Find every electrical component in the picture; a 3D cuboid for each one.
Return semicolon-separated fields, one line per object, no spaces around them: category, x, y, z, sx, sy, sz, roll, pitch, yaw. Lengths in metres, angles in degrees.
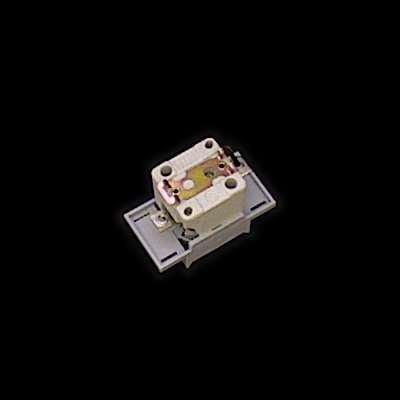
electrical component;0.000;0.000;0.625;0.081;0.042;0.063;-30;-23;-15
